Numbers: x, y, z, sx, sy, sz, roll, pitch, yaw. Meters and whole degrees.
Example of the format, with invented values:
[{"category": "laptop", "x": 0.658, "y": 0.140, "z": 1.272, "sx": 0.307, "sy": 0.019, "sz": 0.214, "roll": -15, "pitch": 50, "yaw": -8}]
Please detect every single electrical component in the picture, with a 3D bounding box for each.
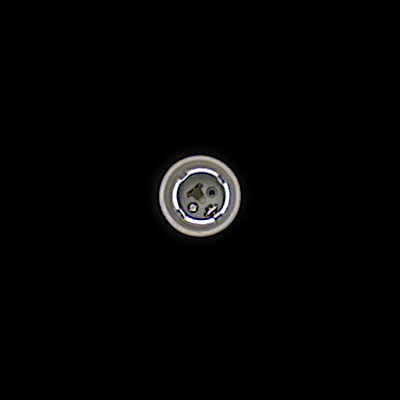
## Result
[{"category": "electrical component", "x": 0.000, "y": 0.000, "z": 0.624, "sx": 0.044, "sy": 0.044, "sz": 0.065, "roll": 0, "pitch": -5, "yaw": 1}]
